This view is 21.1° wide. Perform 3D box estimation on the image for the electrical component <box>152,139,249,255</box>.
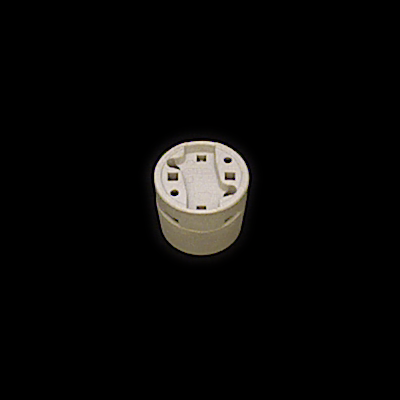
[{"bbox_3d":[0.000,0.000,0.635,0.055,0.055,0.047,0,-38,-1],"label":"electrical component"}]
